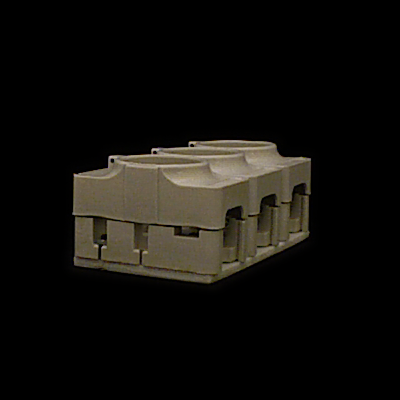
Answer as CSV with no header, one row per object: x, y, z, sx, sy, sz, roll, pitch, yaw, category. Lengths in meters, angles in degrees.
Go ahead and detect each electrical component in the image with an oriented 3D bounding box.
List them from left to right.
0.000,0.000,0.650,0.089,0.062,0.149,5,10,25,electrical component
